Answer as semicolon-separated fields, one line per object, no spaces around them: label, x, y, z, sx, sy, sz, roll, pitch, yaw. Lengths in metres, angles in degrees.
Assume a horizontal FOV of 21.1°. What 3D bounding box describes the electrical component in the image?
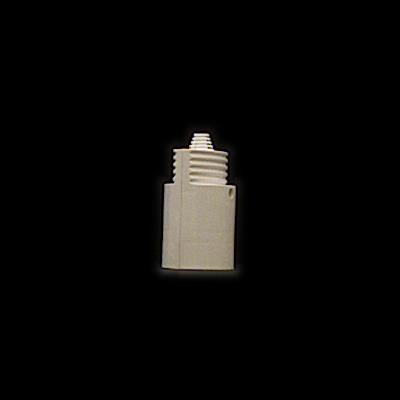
electrical component;0.000;0.000;0.649;0.043;0.081;0.043;1;1;0
